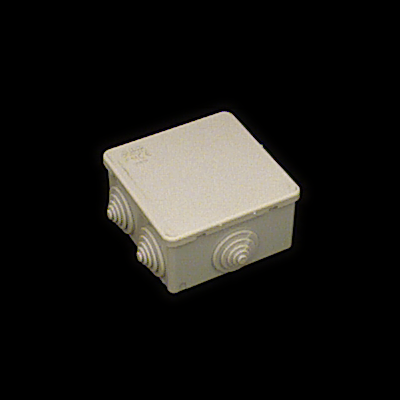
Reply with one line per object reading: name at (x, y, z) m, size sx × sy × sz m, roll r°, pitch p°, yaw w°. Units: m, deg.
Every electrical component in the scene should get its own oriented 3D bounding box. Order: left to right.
electrical component at (0.000, 0.000, 0.641) m, size 0.100 × 0.049 × 0.098 m, roll -20°, pitch 47°, yaw -21°
